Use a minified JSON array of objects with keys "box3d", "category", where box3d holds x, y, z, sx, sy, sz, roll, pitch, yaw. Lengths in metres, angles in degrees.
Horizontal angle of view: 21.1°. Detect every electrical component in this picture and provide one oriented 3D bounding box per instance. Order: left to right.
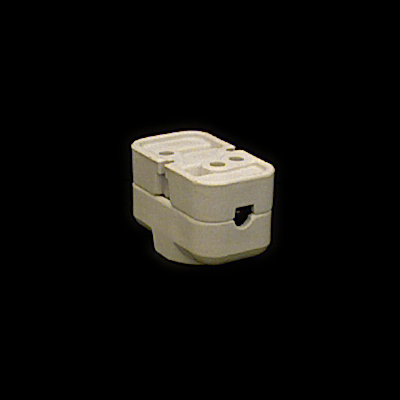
[{"box3d":[0.000,0.000,0.648,0.054,0.060,0.093,-13,25,-30],"category":"electrical component"}]
